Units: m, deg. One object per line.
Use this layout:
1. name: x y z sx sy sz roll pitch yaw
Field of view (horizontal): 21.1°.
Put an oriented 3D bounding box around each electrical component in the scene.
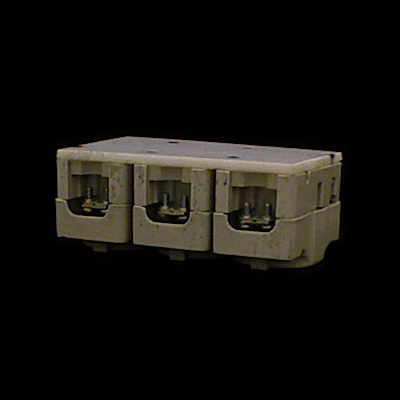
1. electrical component: 0.000 0.000 0.650 0.149 0.062 0.089 5 11 24
